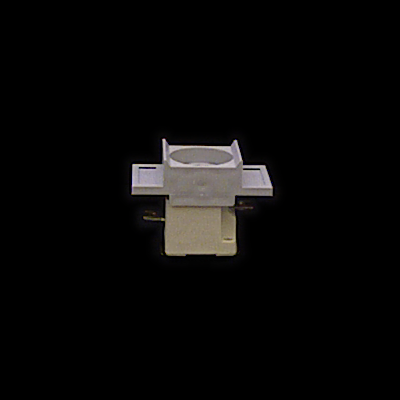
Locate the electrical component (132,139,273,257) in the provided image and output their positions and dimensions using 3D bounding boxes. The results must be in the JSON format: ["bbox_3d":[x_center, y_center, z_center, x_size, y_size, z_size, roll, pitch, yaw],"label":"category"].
[{"bbox_3d":[0.000,0.000,0.637,0.081,0.064,0.041,0,22,-3],"label":"electrical component"}]
